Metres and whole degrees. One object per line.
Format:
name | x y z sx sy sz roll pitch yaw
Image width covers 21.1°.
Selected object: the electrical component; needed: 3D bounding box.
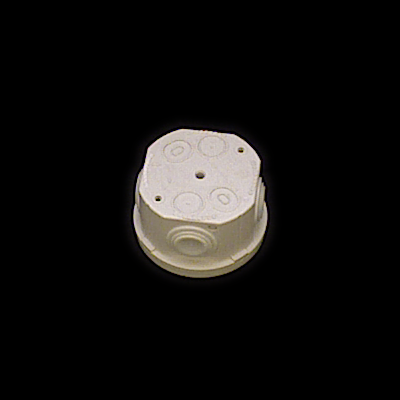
electrical component | 0.000 0.000 0.632 0.080 0.080 0.051 0 -37 0
